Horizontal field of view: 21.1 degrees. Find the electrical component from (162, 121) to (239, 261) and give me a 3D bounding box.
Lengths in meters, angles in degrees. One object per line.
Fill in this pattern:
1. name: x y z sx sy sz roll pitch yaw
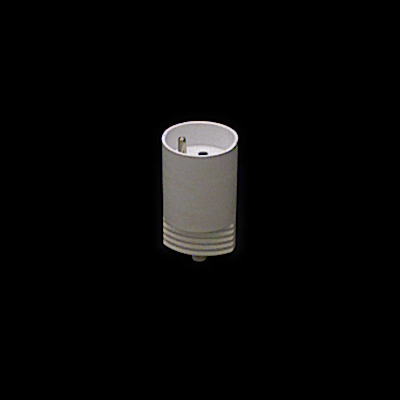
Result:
1. electrical component: 0.000 0.000 0.626 0.043 0.082 0.042 0 31 0
